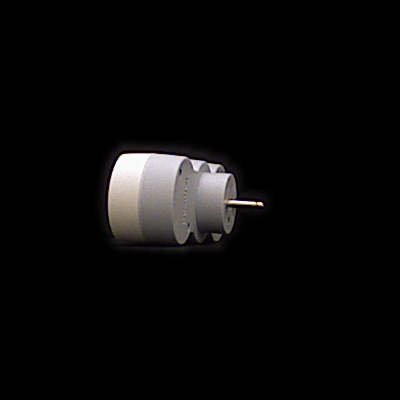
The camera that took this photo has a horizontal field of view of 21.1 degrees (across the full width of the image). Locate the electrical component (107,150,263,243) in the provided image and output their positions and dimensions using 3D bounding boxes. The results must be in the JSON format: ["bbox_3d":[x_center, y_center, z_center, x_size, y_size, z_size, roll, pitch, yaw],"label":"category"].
[{"bbox_3d":[0.000,0.000,0.653,0.073,0.052,0.138,3,0,14],"label":"electrical component"}]
